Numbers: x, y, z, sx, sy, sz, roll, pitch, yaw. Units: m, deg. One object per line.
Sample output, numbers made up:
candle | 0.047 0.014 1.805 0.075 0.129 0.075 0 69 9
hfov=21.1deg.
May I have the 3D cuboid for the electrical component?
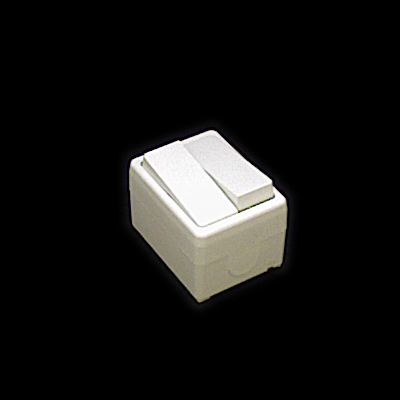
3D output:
electrical component | 0.000 0.000 0.632 0.062 0.061 0.095 -22 47 -24
